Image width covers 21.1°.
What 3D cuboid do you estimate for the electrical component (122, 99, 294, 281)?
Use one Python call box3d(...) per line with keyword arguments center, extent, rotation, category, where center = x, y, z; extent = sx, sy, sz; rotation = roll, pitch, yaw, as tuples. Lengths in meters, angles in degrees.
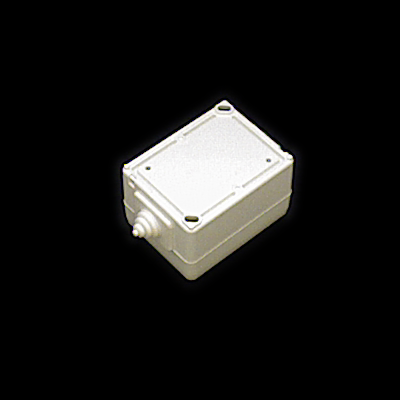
box3d(center=(-0.001, 0.000, 0.623), extent=(0.096, 0.061, 0.061), rotation=(-35, 61, -25), category="electrical component")
